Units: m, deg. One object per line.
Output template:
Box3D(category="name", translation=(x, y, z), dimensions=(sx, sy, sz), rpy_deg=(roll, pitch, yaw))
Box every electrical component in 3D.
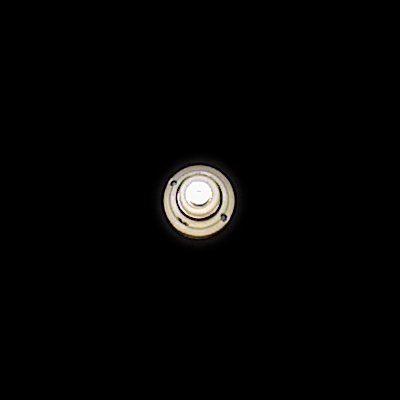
Box3D(category="electrical component", translation=(0.000, 0.000, 0.618), dimensions=(0.040, 0.040, 0.078), rpy_deg=(0, -6, -1))
